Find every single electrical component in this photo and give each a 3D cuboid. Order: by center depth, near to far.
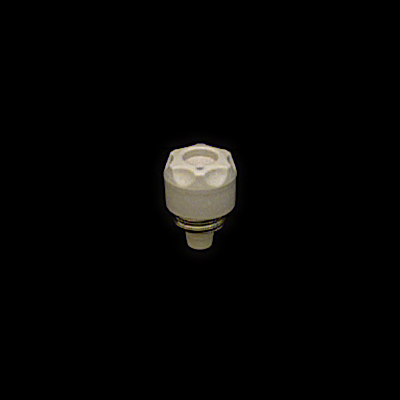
[{"bbox_3d":[0.000,0.000,0.642,0.043,0.063,0.043,1,31,0],"label":"electrical component"}]
